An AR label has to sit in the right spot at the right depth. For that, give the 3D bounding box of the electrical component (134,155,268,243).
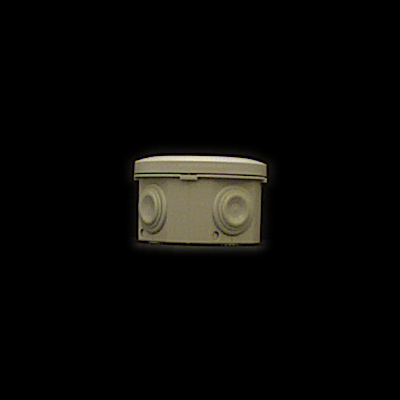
[{"bbox_3d":[0.000,0.000,0.648,0.080,0.051,0.080,1,0,0],"label":"electrical component"}]
